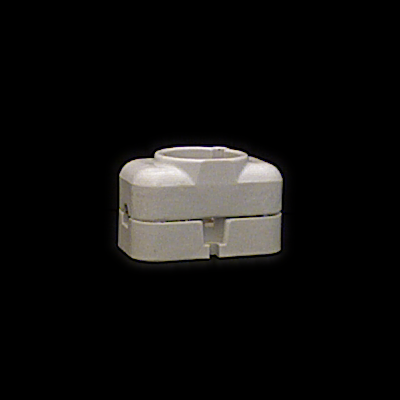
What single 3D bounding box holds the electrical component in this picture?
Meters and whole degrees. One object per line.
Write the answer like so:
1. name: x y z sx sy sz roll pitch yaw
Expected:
1. electrical component: 0.000 0.000 0.652 0.096 0.060 0.053 -3 13 -21
